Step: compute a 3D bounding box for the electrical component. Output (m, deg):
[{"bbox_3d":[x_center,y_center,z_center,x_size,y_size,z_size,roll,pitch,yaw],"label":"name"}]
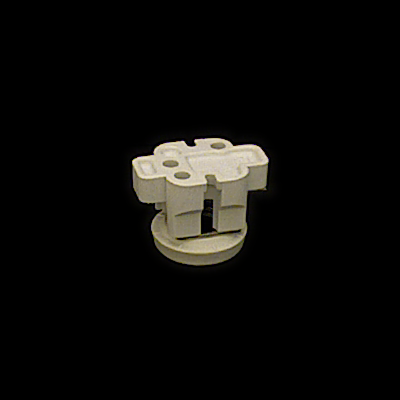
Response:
[{"bbox_3d":[0.000,0.000,0.644,0.079,0.057,0.057,-7,32,-16],"label":"electrical component"}]
